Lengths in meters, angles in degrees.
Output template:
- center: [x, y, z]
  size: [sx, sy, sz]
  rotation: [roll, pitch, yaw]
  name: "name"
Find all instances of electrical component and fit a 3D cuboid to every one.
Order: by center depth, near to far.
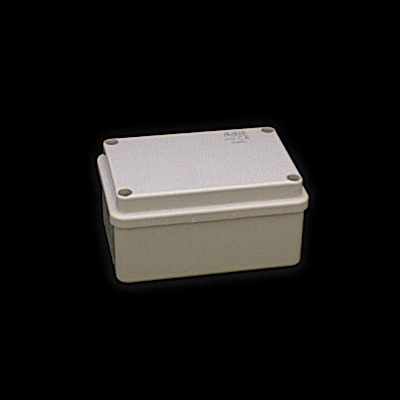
- center: [0.000, 0.000, 0.636]
  size: [0.113, 0.058, 0.077]
  rotation: [-5, 32, -10]
  name: "electrical component"
